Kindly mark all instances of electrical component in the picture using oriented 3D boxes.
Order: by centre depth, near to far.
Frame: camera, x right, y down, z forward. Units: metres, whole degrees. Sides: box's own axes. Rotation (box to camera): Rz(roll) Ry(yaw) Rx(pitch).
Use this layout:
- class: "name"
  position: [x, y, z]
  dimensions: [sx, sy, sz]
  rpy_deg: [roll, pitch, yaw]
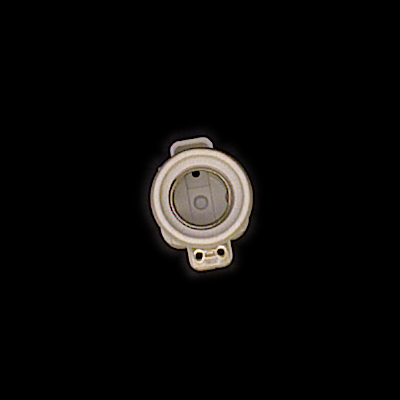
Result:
- class: "electrical component"
  position: [0.000, 0.000, 0.629]
  dimensions: [0.058, 0.079, 0.056]
  rpy_deg: [-10, -6, -1]
